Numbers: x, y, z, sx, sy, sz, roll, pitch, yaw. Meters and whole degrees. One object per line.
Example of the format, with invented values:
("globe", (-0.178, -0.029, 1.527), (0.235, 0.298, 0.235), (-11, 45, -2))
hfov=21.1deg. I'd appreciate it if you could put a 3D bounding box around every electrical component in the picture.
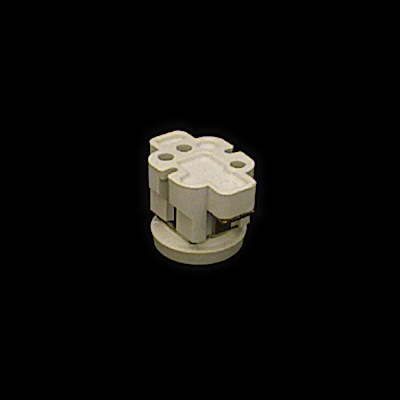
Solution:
("electrical component", (0.000, 0.000, 0.642), (0.058, 0.057, 0.077), (-21, 40, -32))
